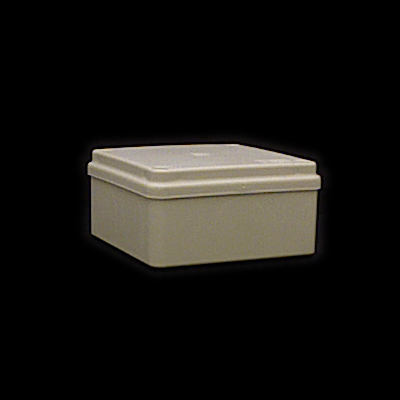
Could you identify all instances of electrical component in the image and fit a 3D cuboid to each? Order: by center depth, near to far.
[{"bbox_3d":[0.000,0.000,0.645,0.109,0.056,0.107,-4,11,-25],"label":"electrical component"}]
